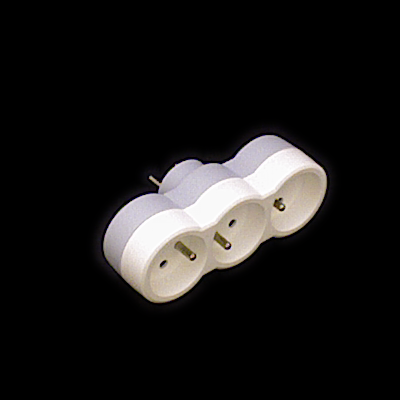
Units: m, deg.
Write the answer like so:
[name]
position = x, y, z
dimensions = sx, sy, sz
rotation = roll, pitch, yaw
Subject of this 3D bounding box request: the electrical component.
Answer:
[electrical component]
position = 0.000, 0.000, 0.632
dimensions = 0.138, 0.052, 0.073
rotation = -28, 47, -27
